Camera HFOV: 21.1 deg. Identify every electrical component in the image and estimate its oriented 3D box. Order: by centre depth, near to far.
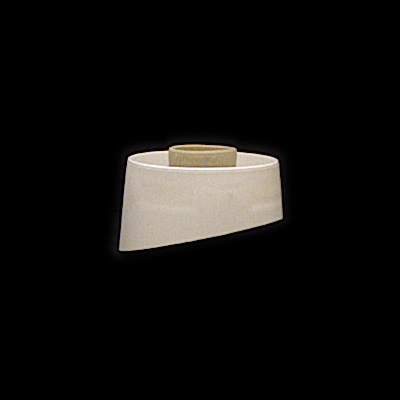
[{"bbox_3d":[0.000,0.000,0.644,0.099,0.064,0.098,1,10,0],"label":"electrical component"}]
